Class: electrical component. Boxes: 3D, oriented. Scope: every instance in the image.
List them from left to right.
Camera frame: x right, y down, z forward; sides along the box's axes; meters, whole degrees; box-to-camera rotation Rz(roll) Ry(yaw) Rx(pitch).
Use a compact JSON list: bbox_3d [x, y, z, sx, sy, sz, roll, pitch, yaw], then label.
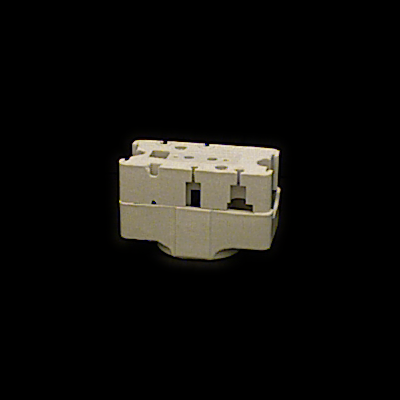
[{"bbox_3d":[0.000,0.000,0.646,0.089,0.056,0.050,4,23,9],"label":"electrical component"}]
